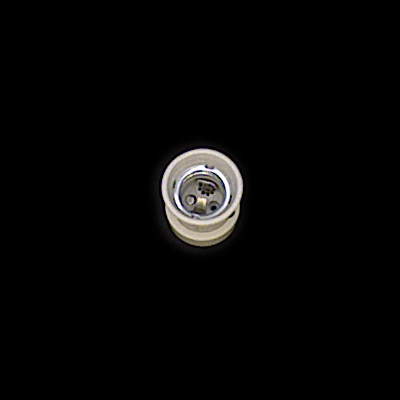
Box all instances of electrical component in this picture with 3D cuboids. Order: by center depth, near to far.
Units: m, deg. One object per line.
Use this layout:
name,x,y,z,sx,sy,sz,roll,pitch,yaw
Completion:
electrical component,0.000,0.000,0.628,0.045,0.045,0.055,0,-17,0
